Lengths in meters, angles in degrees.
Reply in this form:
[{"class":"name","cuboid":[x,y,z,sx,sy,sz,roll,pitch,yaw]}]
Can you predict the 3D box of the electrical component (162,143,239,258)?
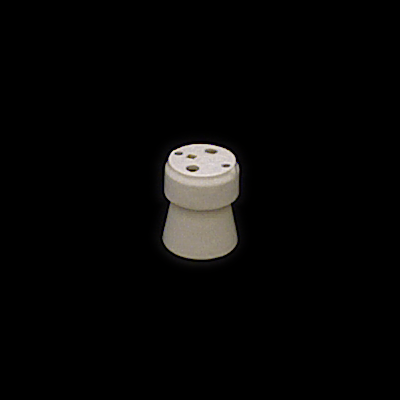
[{"class":"electrical component","cuboid":[0.000,0.000,0.637,0.045,0.056,0.044,1,32,-1]}]
